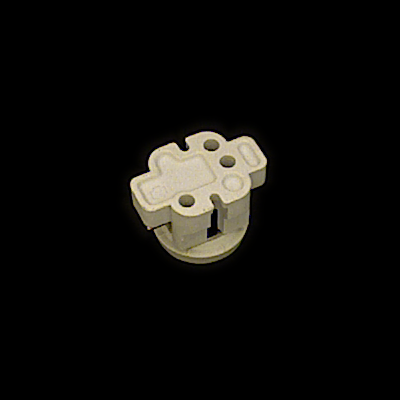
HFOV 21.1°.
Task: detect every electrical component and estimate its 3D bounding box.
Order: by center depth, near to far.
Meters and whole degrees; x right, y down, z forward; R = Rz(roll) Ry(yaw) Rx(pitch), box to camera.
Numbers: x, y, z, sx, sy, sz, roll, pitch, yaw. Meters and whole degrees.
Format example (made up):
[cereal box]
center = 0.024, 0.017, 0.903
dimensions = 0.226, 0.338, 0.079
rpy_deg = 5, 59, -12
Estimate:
[electrical component]
center = 0.000, 0.000, 0.635
dimensions = 0.079, 0.057, 0.057
rpy_deg = -23, -33, -15
